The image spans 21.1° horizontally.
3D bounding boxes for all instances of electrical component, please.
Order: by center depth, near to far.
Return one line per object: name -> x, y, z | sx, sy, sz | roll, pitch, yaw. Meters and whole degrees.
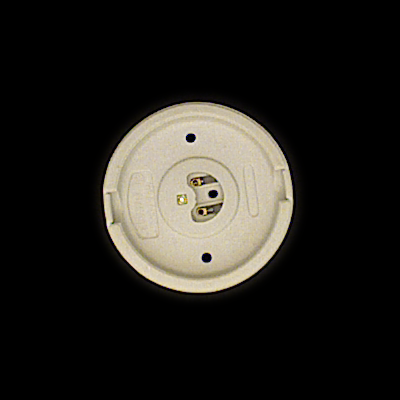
electrical component -> 0.000, 0.000, 0.634 | 0.108, 0.108, 0.060 | 0, -6, 0
